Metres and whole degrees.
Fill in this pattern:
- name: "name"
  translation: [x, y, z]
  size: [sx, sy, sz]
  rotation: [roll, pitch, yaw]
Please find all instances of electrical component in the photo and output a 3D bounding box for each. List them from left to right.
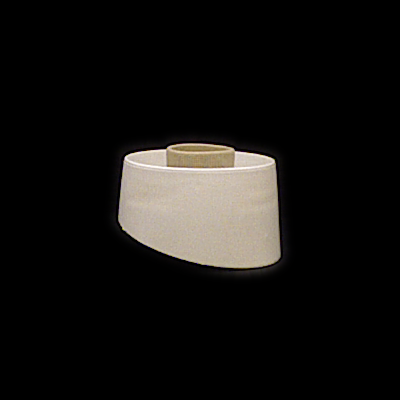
- name: "electrical component"
  translation: [0.000, 0.000, 0.643]
  size: [0.099, 0.064, 0.098]
  rotation: [2, 10, 0]
